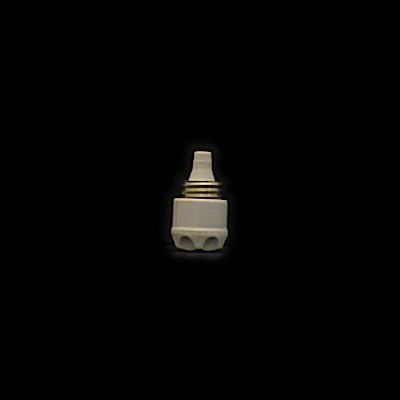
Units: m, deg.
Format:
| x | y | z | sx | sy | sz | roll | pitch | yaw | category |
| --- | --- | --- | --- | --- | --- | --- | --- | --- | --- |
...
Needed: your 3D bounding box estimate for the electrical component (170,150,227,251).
| x | y | z | sx | sy | sz | roll | pitch | yaw | category |
| --- | --- | --- | --- | --- | --- | --- | --- | --- | --- |
| 0.000 | 0.000 | 0.664 | 0.035 | 0.061 | 0.035 | 3 | 2 | 0 | electrical component |
